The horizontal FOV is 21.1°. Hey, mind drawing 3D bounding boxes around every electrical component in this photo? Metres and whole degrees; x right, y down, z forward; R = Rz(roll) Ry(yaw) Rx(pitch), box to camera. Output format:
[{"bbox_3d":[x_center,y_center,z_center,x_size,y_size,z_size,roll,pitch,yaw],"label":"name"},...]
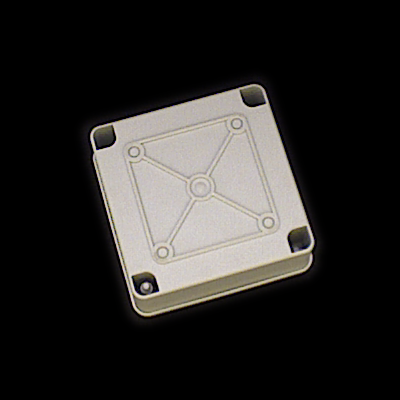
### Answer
[{"bbox_3d":[0.000,0.000,0.627,0.109,0.109,0.056,-16,-16,-4],"label":"electrical component"}]
